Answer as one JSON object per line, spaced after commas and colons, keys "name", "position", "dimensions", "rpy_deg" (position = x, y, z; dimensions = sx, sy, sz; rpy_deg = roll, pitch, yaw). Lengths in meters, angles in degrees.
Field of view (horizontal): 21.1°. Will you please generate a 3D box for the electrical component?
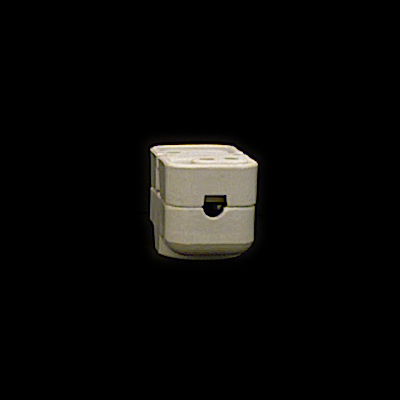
{"name": "electrical component", "position": [0.000, 0.000, 0.653], "dimensions": [0.054, 0.060, 0.094], "rpy_deg": [-1, 11, -10]}
